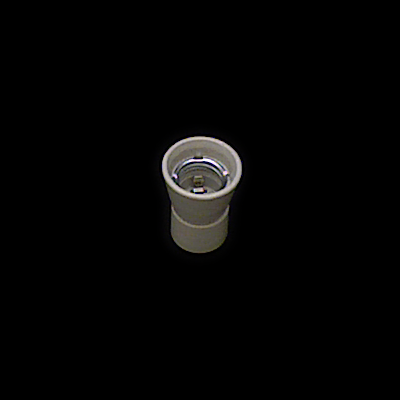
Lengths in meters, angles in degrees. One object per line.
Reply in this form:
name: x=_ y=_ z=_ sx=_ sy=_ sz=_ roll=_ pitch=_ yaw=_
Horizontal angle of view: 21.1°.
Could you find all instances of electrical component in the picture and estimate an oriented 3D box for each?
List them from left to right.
electrical component: x=0.000 y=0.000 z=0.627 sx=0.044 sy=0.044 sz=0.065 roll=0 pitch=-38 yaw=-2
